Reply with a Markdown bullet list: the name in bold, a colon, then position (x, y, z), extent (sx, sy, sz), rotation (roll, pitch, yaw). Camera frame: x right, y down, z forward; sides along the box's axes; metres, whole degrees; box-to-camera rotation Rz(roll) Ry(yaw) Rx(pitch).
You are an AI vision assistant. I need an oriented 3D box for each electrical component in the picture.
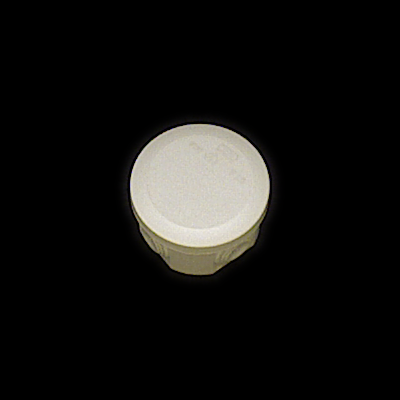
- **electrical component**: position (0.000, 0.000, 0.629), extent (0.080, 0.080, 0.050), rotation (0, -27, 0)
